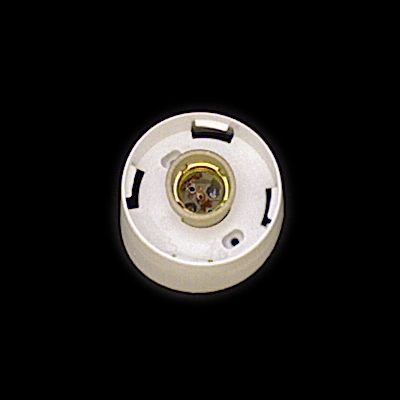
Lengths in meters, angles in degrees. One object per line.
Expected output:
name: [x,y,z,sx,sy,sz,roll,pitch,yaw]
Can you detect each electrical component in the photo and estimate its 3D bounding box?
electrical component: [0.000,0.000,0.625,0.099,0.099,0.064,0,-17,0]
